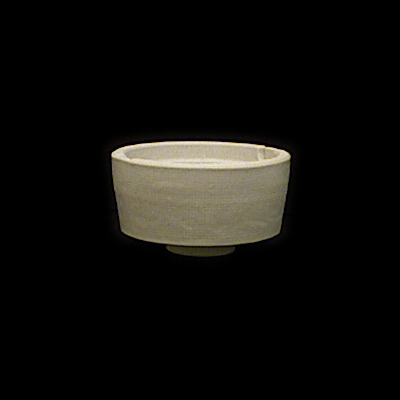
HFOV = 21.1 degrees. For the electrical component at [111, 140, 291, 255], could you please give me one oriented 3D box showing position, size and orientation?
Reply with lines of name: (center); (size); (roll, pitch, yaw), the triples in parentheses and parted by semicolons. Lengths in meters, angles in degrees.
electrical component: (0.000, 0.000, 0.654); (0.108, 0.061, 0.107); (1, 11, 0)
